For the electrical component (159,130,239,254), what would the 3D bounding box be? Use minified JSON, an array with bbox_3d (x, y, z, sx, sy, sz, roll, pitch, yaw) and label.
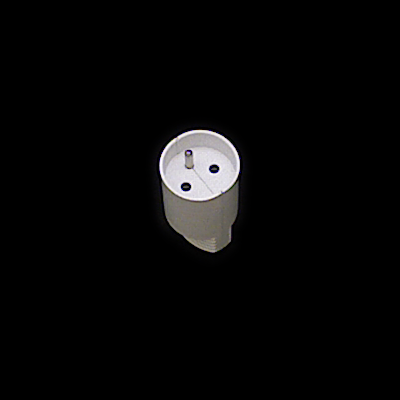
[{"bbox_3d":[0.000,0.000,0.616,0.043,0.043,0.081,0,-28,0],"label":"electrical component"}]
